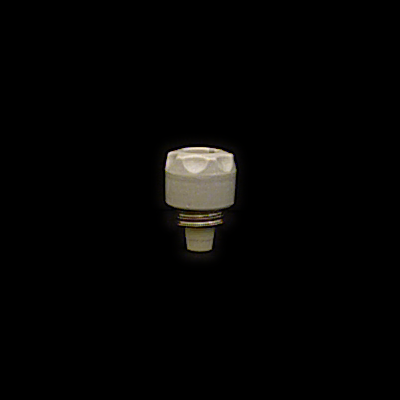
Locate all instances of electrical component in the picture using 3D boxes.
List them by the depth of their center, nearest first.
[{"bbox_3d":[0.000,0.000,0.650,0.043,0.062,0.043,1,13,0],"label":"electrical component"}]
